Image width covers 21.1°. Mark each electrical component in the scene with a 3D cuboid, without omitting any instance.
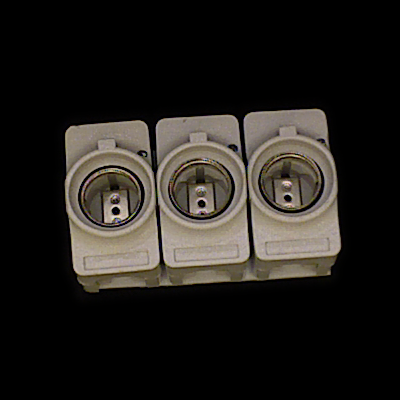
[{"bbox_3d":[0.000,0.000,0.632,0.150,0.089,0.062,-4,-18,-2],"label":"electrical component"}]
